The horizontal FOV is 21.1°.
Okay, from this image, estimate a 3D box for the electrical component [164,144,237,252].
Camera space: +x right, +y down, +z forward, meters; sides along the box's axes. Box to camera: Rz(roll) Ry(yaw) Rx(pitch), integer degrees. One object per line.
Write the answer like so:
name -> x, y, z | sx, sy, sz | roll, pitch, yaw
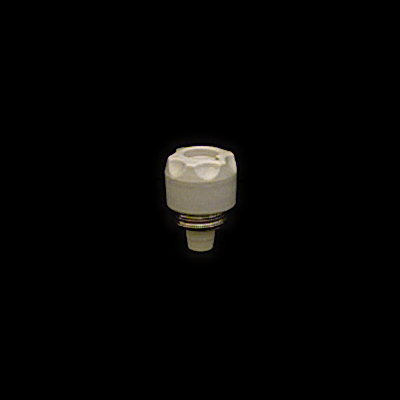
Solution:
electrical component -> 0.000, 0.000, 0.646 | 0.043, 0.063, 0.043 | 0, 22, 0
